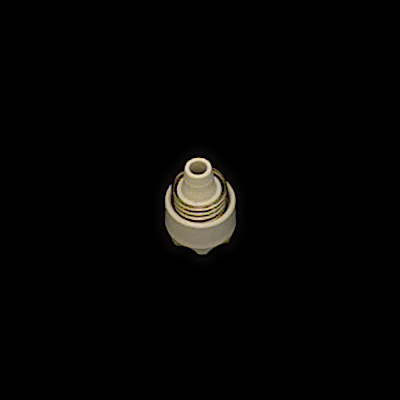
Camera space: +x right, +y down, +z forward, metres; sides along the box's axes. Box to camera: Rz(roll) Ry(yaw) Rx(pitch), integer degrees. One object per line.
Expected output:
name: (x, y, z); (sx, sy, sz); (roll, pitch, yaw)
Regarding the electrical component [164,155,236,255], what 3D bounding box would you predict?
electrical component: (0.000, 0.000, 0.635); (0.043, 0.043, 0.062); (0, -38, 1)
